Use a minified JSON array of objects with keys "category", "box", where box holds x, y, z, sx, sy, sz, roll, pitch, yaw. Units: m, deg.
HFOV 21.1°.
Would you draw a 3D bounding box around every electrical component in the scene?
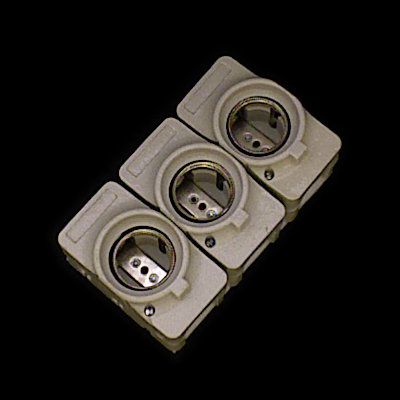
[{"category":"electrical component","box":[0.000,0.000,0.631,0.089,0.150,0.062,39,-12,10]}]
